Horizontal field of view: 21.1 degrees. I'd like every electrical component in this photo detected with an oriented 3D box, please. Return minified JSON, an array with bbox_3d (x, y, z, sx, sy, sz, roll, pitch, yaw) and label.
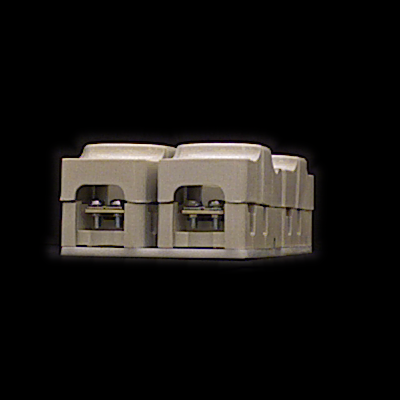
[{"bbox_3d":[0.000,0.000,0.650,0.105,0.060,0.186,1,-1,17],"label":"electrical component"}]
